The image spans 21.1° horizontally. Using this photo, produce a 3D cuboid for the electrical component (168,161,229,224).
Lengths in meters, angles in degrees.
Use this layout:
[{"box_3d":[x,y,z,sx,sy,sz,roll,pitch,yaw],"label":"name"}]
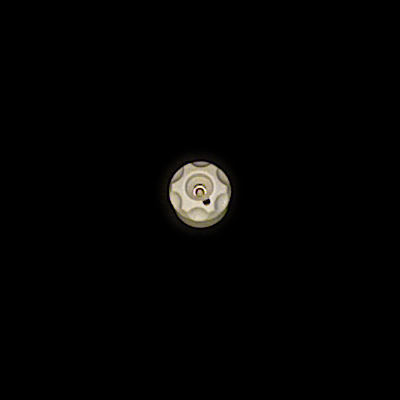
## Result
[{"box_3d":[0.000,0.000,0.633,0.035,0.035,0.061,0,-15,1],"label":"electrical component"}]
